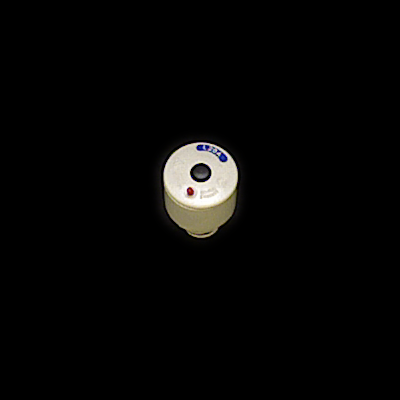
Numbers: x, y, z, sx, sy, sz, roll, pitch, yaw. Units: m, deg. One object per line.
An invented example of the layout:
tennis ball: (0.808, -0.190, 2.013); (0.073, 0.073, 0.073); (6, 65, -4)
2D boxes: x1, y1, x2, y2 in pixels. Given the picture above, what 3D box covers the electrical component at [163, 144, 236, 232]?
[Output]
electrical component: (0.000, 0.000, 0.617); (0.040, 0.040, 0.078); (0, -27, 0)
